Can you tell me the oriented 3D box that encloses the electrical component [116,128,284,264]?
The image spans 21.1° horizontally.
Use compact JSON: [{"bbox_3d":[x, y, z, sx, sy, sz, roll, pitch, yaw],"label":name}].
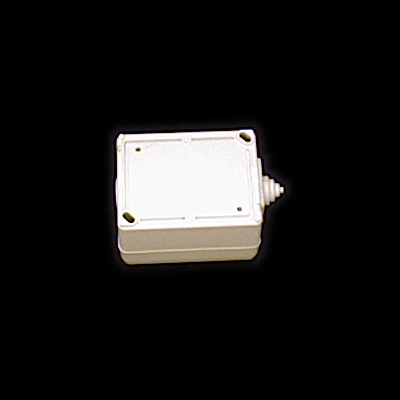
[{"bbox_3d":[0.000,0.000,0.627,0.096,0.062,0.060,-2,-27,-2],"label":"electrical component"}]
